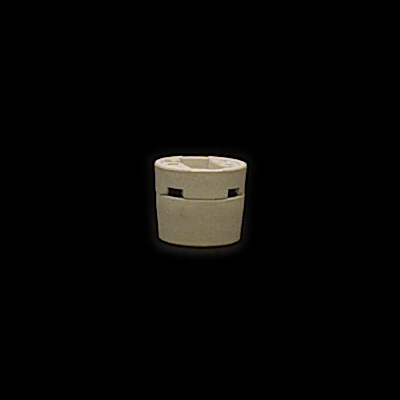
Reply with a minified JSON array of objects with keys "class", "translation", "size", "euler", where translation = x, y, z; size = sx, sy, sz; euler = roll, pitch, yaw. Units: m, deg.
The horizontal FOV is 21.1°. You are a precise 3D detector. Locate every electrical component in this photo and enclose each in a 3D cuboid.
[{"class":"electrical component","translation":[0.000,0.000,0.645],"size":[0.055,0.047,0.055],"euler":[1,11,0]}]
